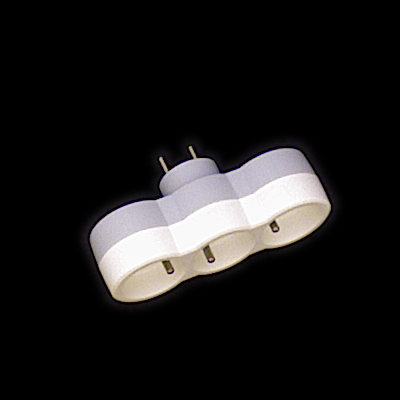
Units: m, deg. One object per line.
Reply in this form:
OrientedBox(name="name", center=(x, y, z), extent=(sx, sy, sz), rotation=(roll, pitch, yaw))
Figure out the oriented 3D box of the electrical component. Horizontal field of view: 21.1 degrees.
OrientedBox(name="electrical component", center=(0.000, 0.000, 0.630), extent=(0.138, 0.074, 0.052), rotation=(-21, -27, -10))
